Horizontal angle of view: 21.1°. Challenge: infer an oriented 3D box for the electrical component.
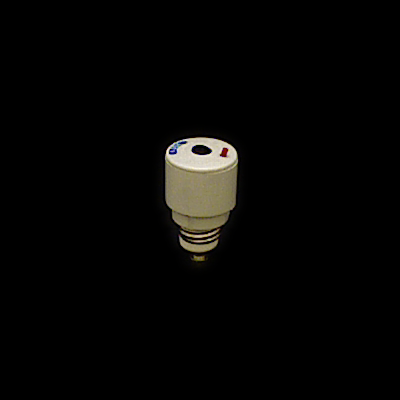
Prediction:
[{"bbox_3d":[0.000,0.000,0.628,0.040,0.079,0.039,1,31,-1],"label":"electrical component"}]
